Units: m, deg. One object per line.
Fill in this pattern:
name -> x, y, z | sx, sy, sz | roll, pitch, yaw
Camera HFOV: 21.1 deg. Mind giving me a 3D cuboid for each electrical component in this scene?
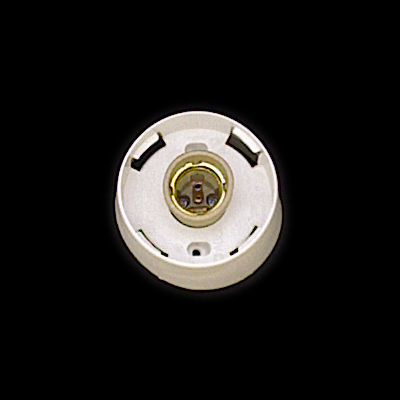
electrical component -> 0.000, 0.000, 0.624 | 0.099, 0.099, 0.063 | 0, -17, -1
